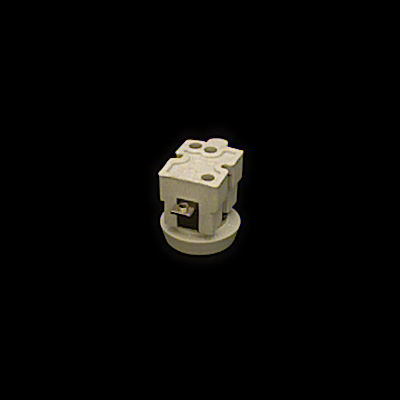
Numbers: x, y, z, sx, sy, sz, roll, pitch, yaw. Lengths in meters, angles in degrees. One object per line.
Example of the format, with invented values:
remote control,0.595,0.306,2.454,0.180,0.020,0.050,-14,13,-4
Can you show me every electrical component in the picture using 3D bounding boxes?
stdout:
electrical component,0.000,0.000,0.644,0.048,0.056,0.066,14,35,17
